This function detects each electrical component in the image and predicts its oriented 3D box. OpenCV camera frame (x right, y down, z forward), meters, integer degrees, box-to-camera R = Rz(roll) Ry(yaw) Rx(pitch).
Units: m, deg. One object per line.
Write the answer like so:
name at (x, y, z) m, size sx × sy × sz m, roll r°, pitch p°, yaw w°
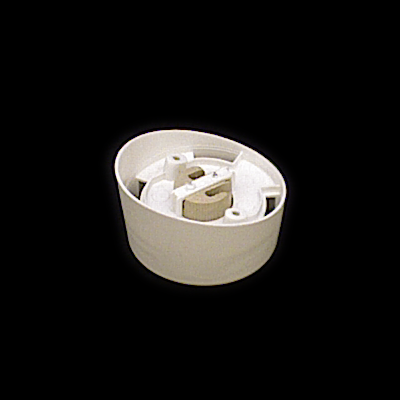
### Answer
electrical component at (0.000, 0.000, 0.628) m, size 0.099 × 0.064 × 0.098 m, roll 0°, pitch 42°, yaw 0°
